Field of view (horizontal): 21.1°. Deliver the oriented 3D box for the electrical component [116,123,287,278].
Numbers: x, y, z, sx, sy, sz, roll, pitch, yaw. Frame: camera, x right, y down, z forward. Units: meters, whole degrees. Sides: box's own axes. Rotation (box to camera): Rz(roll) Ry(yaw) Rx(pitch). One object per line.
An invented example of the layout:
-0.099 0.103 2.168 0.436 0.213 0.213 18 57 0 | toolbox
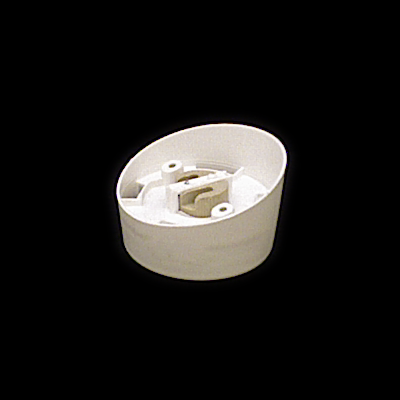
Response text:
0.000 0.000 0.634 0.099 0.065 0.097 1 30 -1 | electrical component
